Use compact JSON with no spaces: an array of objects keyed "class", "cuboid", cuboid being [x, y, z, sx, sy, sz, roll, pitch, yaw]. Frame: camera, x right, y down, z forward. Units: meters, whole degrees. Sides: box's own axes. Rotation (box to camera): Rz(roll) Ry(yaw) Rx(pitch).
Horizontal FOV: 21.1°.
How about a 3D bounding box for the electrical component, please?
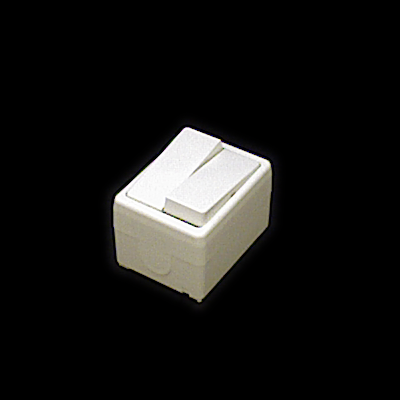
[{"class":"electrical component","cuboid":[0.000,0.000,0.632,0.061,0.061,0.096,24,47,24]}]
